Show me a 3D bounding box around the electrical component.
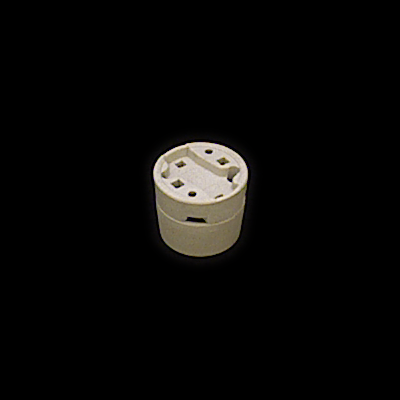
[{"bbox_3d":[0.000,0.000,0.636,0.055,0.047,0.055,1,42,-1],"label":"electrical component"}]
